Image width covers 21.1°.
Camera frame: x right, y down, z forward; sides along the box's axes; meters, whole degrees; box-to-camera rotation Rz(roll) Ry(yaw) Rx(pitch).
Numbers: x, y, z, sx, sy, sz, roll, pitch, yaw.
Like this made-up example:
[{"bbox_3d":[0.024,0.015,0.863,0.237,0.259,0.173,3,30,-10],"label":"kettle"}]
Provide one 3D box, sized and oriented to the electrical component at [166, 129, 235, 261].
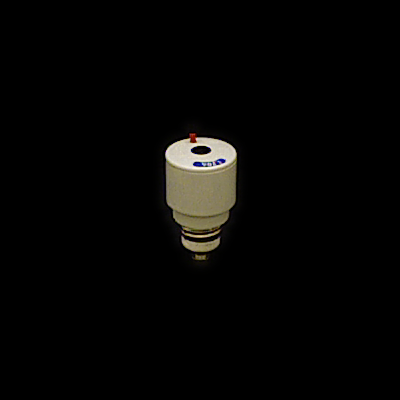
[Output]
[{"bbox_3d":[0.000,0.000,0.631,0.040,0.079,0.039,0,31,0],"label":"electrical component"}]
